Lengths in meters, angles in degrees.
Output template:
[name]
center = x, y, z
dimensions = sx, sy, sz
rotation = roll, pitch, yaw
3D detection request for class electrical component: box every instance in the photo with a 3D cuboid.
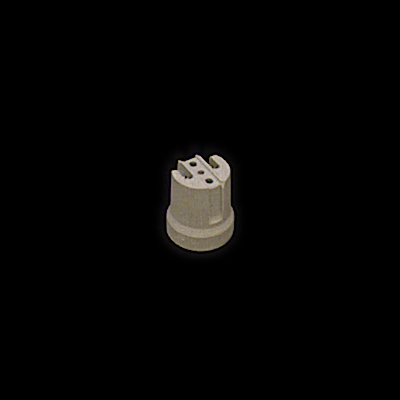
[electrical component]
center = 0.000, 0.000, 0.637
dimensions = 0.040, 0.046, 0.040
rotation = 1, 42, -1
